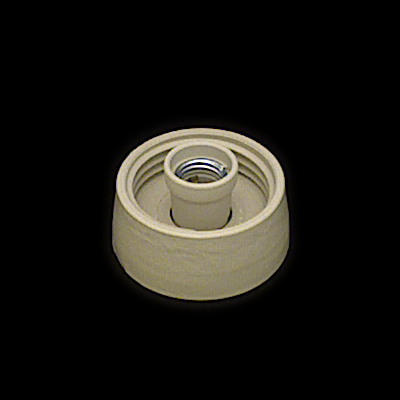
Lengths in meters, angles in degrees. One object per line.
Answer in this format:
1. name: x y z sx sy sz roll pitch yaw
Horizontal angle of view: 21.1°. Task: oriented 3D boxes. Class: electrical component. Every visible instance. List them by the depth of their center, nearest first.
1. electrical component: 0.000 0.000 0.636 0.108 0.061 0.107 1 43 0
